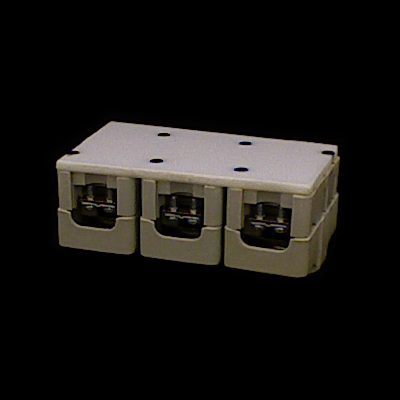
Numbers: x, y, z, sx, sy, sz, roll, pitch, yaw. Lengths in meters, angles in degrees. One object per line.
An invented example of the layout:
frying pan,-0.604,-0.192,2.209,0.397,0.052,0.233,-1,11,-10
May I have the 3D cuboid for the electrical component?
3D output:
electrical component,0.000,0.000,0.646,0.150,0.063,0.088,7,22,15
